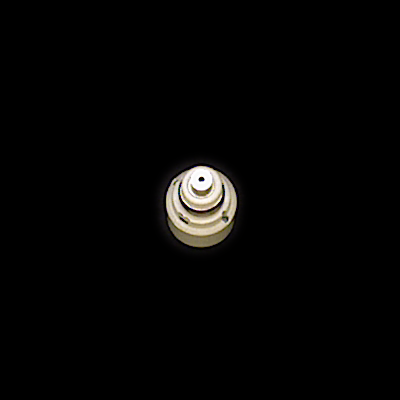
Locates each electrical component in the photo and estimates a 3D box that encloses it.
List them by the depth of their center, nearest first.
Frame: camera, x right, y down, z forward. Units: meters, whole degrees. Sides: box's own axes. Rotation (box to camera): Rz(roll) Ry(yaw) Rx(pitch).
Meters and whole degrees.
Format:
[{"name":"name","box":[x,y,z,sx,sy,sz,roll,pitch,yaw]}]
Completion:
[{"name":"electrical component","box":[0.000,0.000,0.618,0.040,0.040,0.078,0,-16,-1]}]
